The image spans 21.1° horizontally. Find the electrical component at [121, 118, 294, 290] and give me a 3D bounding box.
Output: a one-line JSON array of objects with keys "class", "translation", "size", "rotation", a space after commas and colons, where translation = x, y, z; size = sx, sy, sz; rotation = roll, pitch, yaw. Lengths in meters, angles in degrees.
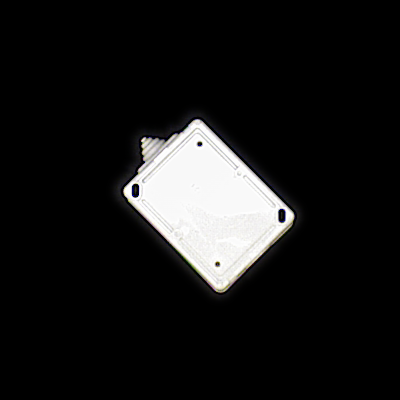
[{"class": "electrical component", "translation": [0.000, 0.000, 0.627], "size": [0.062, 0.096, 0.061], "rotation": [-44, -5, -4]}]
